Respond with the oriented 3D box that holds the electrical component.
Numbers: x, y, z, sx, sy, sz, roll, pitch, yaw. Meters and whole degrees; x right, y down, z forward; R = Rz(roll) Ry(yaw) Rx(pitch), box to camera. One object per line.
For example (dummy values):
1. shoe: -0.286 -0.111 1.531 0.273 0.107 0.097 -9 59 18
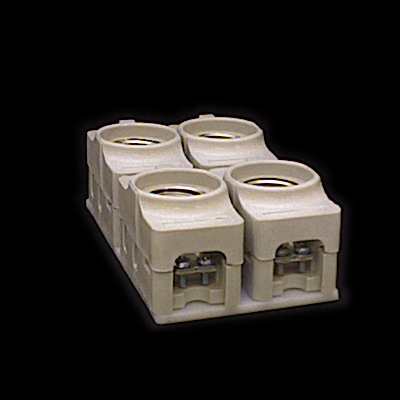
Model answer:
1. electrical component: 0.000 0.000 0.638 0.106 0.061 0.183 -5 21 -16
